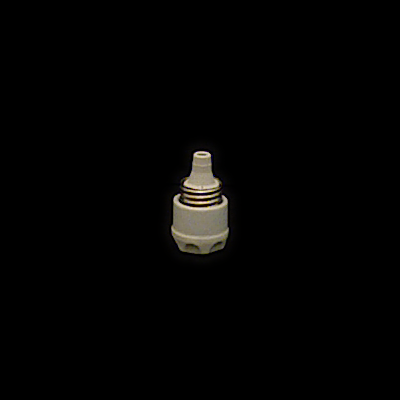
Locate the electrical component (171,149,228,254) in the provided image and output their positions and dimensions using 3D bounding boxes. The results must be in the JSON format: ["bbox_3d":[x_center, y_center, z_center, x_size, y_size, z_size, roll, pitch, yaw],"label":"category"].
[{"bbox_3d":[0.000,0.000,0.653,0.035,0.062,0.034,2,23,0],"label":"electrical component"}]
